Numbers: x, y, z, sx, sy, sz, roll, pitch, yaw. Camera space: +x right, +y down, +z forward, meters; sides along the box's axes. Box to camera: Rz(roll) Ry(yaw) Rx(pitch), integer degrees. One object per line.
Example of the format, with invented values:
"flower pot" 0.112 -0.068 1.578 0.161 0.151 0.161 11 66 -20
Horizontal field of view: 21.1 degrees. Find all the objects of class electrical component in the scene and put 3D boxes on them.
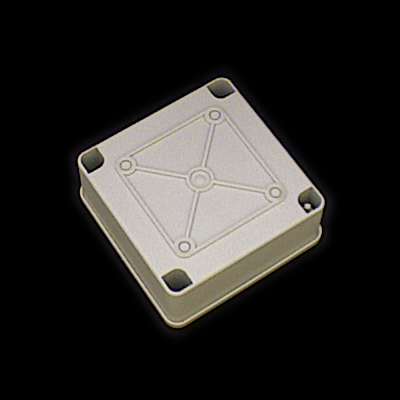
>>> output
"electrical component" 0.000 0.000 0.628 0.109 0.108 0.056 -30 -22 -15
